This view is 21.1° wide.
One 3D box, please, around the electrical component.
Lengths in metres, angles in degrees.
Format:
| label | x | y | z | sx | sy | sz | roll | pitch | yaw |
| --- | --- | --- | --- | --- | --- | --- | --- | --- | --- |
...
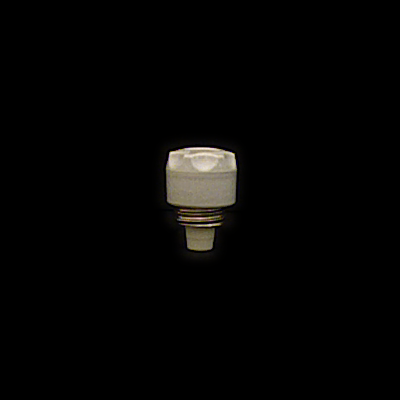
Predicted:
| label | x | y | z | sx | sy | sz | roll | pitch | yaw |
| --- | --- | --- | --- | --- | --- | --- | --- | --- | --- |
| electrical component | 0.000 | 0.000 | 0.652 | 0.043 | 0.062 | 0.043 | 1 | 11 | 0 |
